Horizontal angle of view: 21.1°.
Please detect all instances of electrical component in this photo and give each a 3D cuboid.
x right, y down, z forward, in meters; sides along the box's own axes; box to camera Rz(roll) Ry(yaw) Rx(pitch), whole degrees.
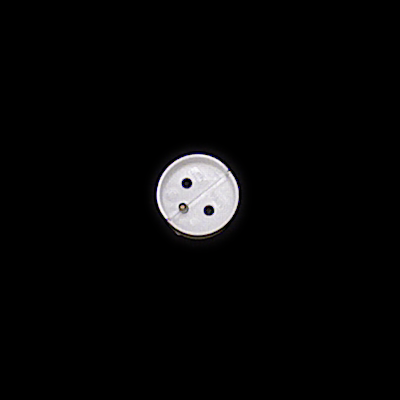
[{"bbox_3d":[0.000,0.000,0.615,0.043,0.043,0.080,0,-6,1],"label":"electrical component"}]
